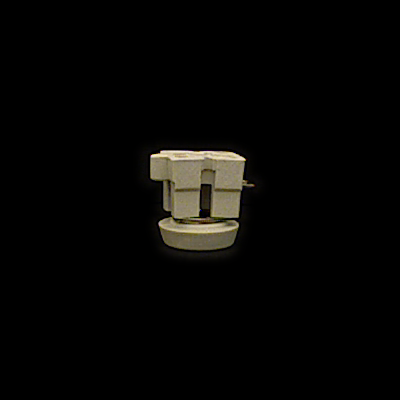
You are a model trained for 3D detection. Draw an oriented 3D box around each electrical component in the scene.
[{"bbox_3d":[0.000,0.000,0.650,0.067,0.056,0.048,-1,11,-14],"label":"electrical component"}]
